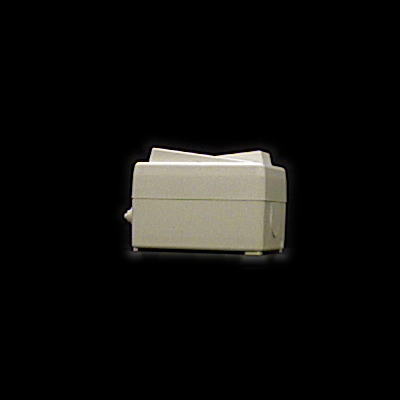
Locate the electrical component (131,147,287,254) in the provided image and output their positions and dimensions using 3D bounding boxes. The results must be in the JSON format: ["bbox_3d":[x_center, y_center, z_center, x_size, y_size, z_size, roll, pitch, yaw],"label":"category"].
[{"bbox_3d":[0.000,0.000,0.650,0.096,0.061,0.062,2,0,17],"label":"electrical component"}]
